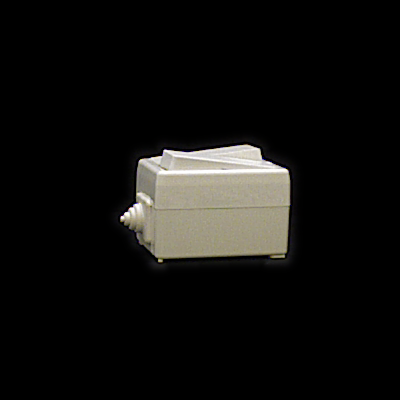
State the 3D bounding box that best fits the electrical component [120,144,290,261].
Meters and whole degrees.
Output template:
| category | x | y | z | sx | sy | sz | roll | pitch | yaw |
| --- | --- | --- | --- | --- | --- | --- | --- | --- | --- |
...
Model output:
| category | x | y | z | sx | sy | sz | roll | pitch | yaw |
| --- | --- | --- | --- | --- | --- | --- | --- | --- | --- |
| electrical component | 0.000 | 0.000 | 0.643 | 0.096 | 0.061 | 0.061 | -1 | 11 | -15 |
